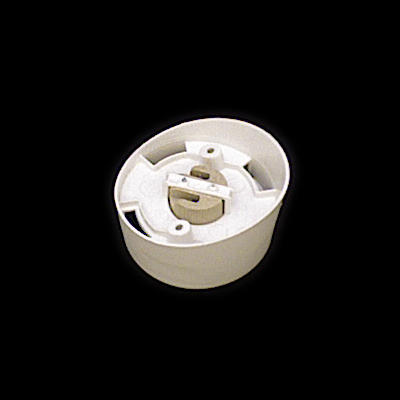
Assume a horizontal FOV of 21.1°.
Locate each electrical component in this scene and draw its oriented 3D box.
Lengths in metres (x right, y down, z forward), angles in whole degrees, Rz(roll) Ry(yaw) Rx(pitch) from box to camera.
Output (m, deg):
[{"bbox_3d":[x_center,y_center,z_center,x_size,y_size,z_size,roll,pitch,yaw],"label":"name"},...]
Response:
[{"bbox_3d":[0.000,0.000,0.626,0.099,0.098,0.064,0,-38,-2],"label":"electrical component"}]
